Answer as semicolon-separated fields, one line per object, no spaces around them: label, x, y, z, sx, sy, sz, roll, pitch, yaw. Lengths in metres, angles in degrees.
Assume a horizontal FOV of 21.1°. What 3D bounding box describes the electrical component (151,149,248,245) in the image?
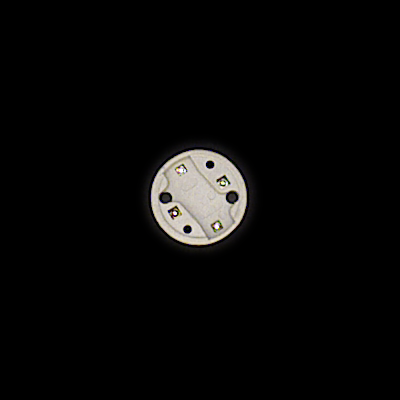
electrical component;0.000;0.000;0.636;0.055;0.055;0.047;0;-7;0
